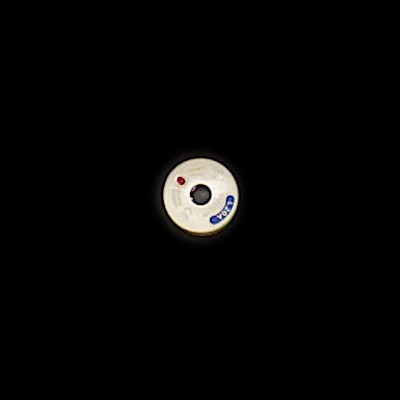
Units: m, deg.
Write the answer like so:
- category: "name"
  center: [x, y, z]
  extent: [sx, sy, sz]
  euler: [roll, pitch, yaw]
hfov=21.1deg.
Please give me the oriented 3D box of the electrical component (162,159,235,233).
- category: "electrical component"
  center: [0.000, 0.000, 0.618]
  extent: [0.040, 0.040, 0.078]
  euler: [0, -6, 1]
